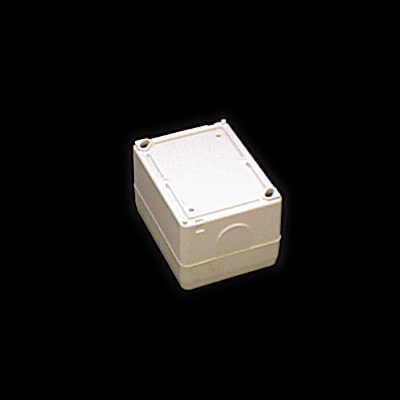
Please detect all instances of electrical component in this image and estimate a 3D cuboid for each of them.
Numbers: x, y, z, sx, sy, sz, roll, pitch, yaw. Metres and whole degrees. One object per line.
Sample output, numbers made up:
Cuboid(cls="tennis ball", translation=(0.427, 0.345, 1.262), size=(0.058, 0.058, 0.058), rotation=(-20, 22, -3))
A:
Cuboid(cls="electrical component", translation=(0.000, 0.000, 0.633), size=(0.062, 0.061, 0.095), rotation=(-16, 44, -17))
